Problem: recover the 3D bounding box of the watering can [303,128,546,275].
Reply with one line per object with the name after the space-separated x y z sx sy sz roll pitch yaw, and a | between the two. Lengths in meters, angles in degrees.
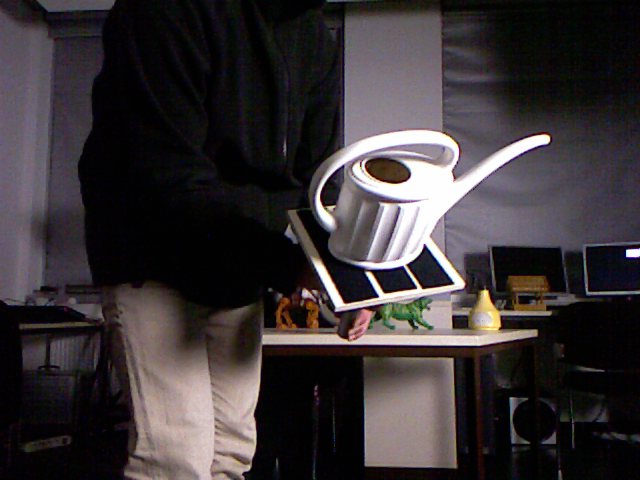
0.137 -0.057 0.711 0.349 0.106 0.219 -6 -43 -21 | watering can
